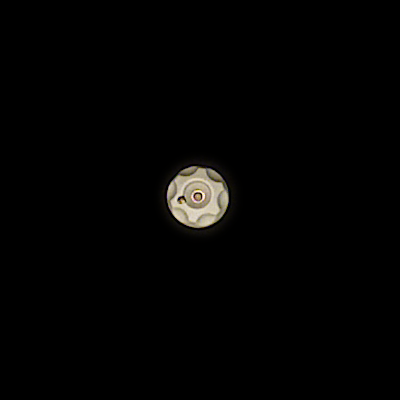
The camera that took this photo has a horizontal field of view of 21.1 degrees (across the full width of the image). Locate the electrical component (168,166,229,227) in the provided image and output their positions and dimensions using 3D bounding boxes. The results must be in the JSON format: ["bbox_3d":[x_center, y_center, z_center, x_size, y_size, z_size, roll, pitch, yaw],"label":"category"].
[{"bbox_3d":[0.000,0.000,0.634,0.035,0.035,0.061,0,-5,1],"label":"electrical component"}]
